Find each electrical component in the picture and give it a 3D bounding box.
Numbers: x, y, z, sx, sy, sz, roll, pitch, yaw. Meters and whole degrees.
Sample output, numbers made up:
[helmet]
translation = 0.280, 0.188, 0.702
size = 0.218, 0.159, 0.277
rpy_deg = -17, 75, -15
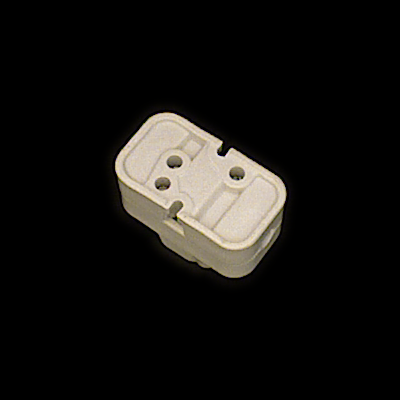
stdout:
[electrical component]
translation = 0.000, 0.000, 0.634
size = 0.095, 0.054, 0.059
rpy_deg = 33, -22, 15
